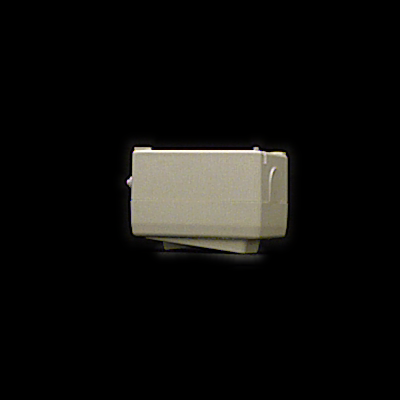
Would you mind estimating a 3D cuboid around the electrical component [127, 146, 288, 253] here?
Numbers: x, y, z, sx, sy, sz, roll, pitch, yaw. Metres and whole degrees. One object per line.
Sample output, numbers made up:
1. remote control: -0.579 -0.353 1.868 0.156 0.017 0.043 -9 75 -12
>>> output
1. electrical component: 0.000 0.000 0.650 0.096 0.061 0.062 2 1 20
